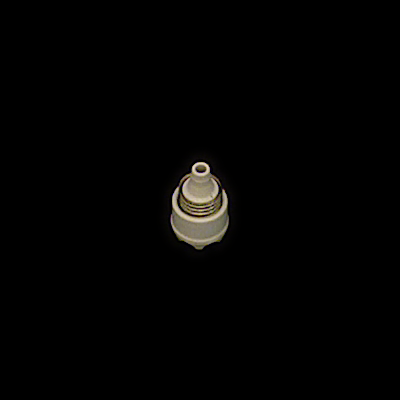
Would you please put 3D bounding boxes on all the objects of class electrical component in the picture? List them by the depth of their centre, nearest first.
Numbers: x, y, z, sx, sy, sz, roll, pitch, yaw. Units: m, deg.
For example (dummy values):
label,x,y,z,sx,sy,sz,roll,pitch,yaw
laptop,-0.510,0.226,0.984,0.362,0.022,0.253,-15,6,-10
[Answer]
label,x,y,z,sx,sy,sz,roll,pitch,yaw
electrical component,0.000,0.000,0.640,0.035,0.035,0.062,0,-37,-2
